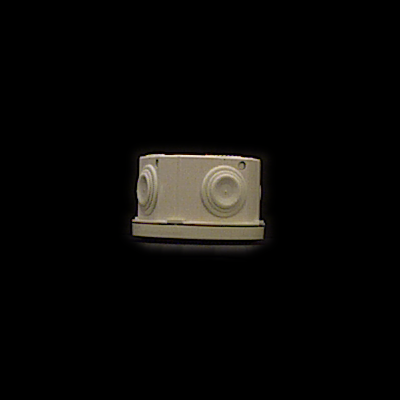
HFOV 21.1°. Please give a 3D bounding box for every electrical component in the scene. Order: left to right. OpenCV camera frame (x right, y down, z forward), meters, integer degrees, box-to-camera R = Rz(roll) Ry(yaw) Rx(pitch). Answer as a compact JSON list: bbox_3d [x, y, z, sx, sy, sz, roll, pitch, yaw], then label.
[{"bbox_3d":[0.000,0.000,0.650,0.080,0.051,0.080,2,0,0],"label":"electrical component"}]
